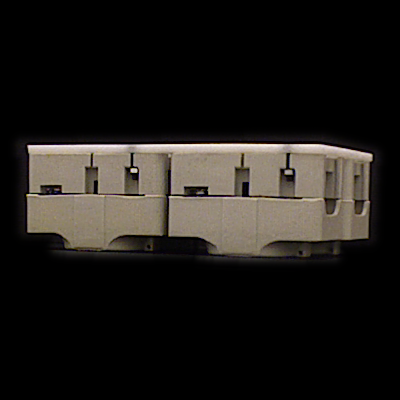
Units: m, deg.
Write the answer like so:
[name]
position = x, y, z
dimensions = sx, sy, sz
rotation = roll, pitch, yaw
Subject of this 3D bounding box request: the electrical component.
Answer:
[electrical component]
position = 0.000, 0.000, 0.649
dimensions = 0.186, 0.060, 0.106
rotation = 1, -1, 25
